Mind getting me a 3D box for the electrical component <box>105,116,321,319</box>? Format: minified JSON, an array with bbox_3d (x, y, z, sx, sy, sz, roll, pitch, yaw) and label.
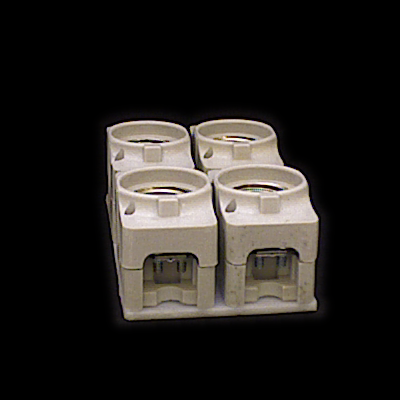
[{"bbox_3d":[0.000,0.000,0.638,0.105,0.061,0.183,-2,21,-7],"label":"electrical component"}]
